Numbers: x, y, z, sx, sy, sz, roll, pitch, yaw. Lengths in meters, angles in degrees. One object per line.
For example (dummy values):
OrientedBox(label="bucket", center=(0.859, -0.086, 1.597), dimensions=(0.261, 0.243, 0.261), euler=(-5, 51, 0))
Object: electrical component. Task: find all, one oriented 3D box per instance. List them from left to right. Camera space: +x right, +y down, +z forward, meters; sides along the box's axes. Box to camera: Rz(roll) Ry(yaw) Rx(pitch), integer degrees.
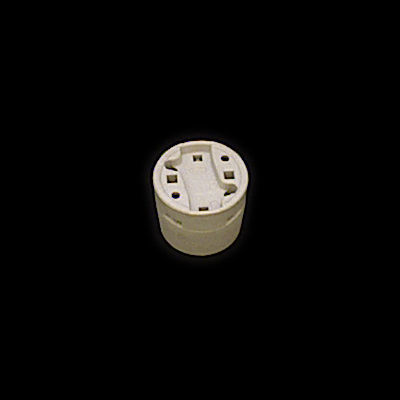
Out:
OrientedBox(label="electrical component", center=(0.000, 0.000, 0.634), dimensions=(0.055, 0.055, 0.047), euler=(0, -38, 0))
